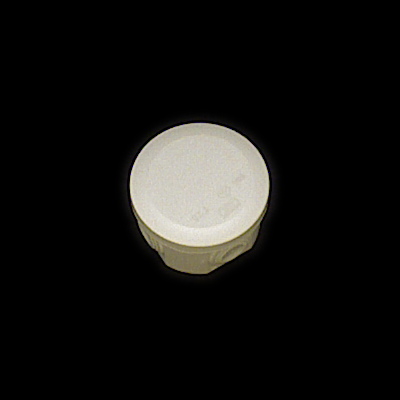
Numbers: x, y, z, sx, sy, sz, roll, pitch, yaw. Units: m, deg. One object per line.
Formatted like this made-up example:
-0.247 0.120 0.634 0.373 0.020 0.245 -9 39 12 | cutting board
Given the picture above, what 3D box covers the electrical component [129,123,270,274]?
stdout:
0.000 0.000 0.629 0.080 0.080 0.050 0 -27 0 | electrical component
